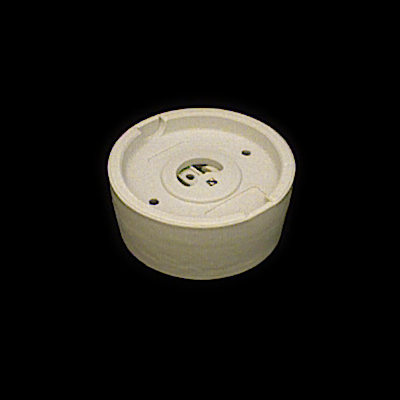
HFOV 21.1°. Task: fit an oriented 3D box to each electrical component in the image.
[{"bbox_3d":[0.000,0.000,0.637,0.108,0.061,0.107,1,42,0],"label":"electrical component"}]
